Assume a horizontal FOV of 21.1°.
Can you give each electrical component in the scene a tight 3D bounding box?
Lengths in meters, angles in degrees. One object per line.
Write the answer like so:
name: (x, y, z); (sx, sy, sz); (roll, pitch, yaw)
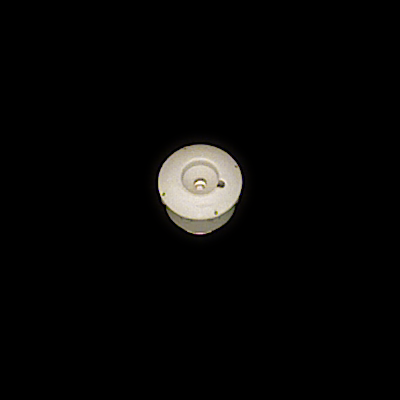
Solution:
electrical component: (0.000, 0.000, 0.635); (0.048, 0.048, 0.062); (0, -27, 0)
